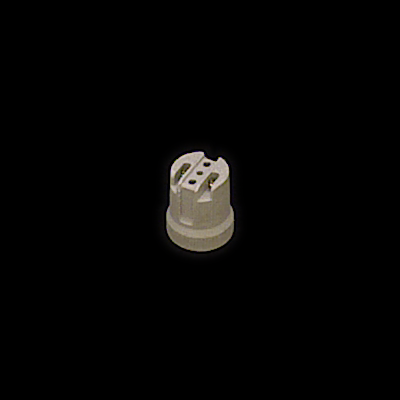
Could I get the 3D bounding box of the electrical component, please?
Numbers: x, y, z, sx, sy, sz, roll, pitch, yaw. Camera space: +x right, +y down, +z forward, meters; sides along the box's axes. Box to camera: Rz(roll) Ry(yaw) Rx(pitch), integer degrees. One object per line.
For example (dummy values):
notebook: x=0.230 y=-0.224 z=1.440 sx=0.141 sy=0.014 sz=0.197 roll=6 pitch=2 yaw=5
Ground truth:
electrical component: x=0.000 y=0.000 z=0.635 sx=0.040 sy=0.046 sz=0.040 roll=0 pitch=42 yaw=0
